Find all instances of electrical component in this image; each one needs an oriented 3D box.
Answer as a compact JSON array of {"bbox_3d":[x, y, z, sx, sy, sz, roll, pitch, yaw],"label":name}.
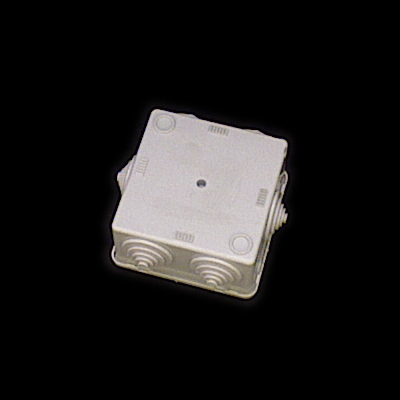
[{"bbox_3d":[0.000,0.000,0.631,0.099,0.100,0.048,14,-26,7],"label":"electrical component"}]
